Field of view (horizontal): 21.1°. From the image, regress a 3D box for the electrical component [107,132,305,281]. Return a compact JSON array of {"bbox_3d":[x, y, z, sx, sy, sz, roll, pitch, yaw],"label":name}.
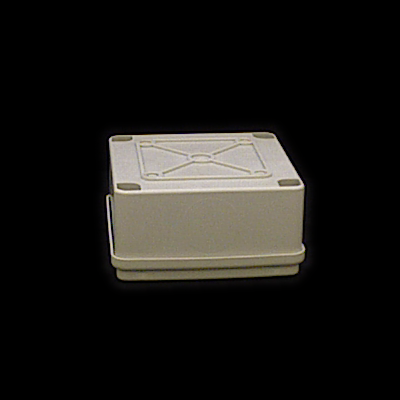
[{"bbox_3d":[0.000,0.000,0.636,0.109,0.057,0.107,-2,21,-6],"label":"electrical component"}]
